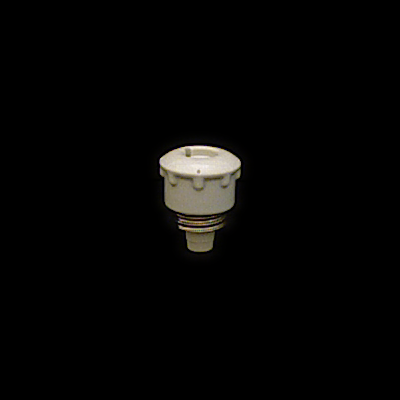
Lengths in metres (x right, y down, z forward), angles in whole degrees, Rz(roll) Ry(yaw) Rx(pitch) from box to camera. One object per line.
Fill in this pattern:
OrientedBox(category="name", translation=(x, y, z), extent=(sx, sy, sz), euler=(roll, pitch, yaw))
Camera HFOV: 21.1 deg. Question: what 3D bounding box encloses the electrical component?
OrientedBox(category="electrical component", translation=(0.000, 0.000, 0.644), extent=(0.048, 0.062, 0.047), euler=(1, 21, 0))
